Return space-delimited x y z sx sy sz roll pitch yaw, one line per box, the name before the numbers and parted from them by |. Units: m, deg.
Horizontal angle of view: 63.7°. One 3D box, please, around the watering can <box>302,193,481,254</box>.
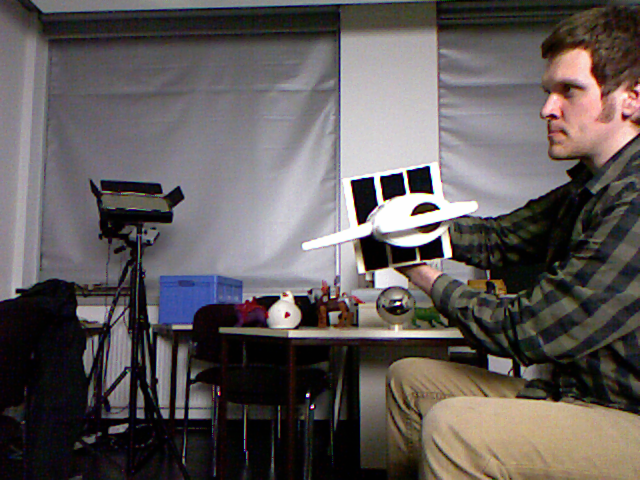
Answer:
watering can | 0.132 -0.030 1.009 0.349 0.104 0.225 -12 1 -4
